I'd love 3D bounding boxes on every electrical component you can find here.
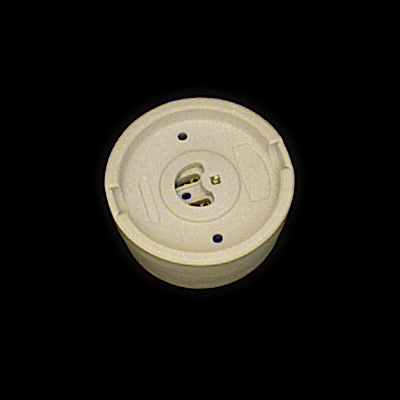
[{"bbox_3d":[0.000,0.000,0.635,0.108,0.108,0.060,0,-27,0],"label":"electrical component"}]
